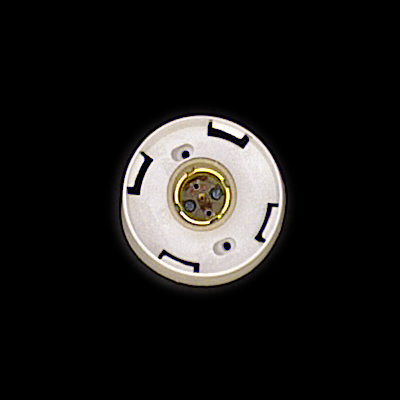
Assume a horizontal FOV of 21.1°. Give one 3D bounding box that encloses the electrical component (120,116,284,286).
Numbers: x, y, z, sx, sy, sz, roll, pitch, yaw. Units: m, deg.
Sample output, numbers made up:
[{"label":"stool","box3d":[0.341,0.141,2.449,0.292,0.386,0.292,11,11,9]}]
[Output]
[{"label":"electrical component","box3d":[0.000,0.000,0.625,0.099,0.099,0.064,0,-6,1]}]
